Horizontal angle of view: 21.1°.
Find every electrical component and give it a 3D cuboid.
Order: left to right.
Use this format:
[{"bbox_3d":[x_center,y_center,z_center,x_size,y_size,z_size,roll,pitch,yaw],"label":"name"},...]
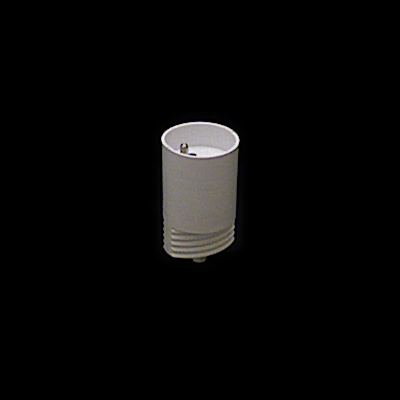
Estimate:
[{"bbox_3d":[0.000,0.000,0.625,0.043,0.082,0.042,0,31,0],"label":"electrical component"}]
